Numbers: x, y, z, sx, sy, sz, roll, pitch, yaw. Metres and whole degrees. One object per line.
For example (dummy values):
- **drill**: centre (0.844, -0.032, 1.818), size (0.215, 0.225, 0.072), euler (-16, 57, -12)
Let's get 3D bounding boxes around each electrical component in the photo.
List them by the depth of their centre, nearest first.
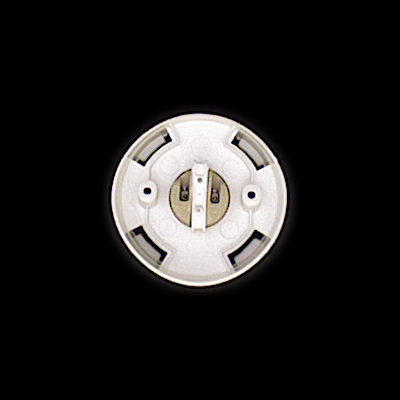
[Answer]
- **electrical component**: centre (0.000, 0.000, 0.624), size (0.099, 0.099, 0.064), euler (0, -6, -1)
